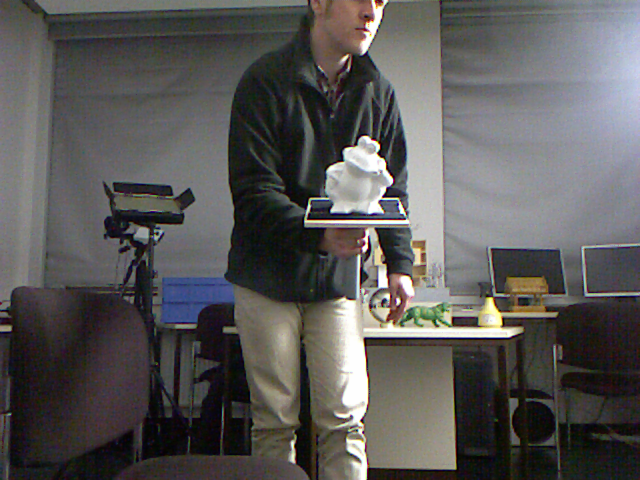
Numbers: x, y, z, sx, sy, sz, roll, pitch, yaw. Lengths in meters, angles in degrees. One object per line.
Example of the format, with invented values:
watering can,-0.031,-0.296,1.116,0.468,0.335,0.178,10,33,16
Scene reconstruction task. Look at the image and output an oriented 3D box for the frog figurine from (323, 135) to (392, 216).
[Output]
frog figurine,0.075,-0.136,1.041,0.137,0.157,0.124,7,21,18
